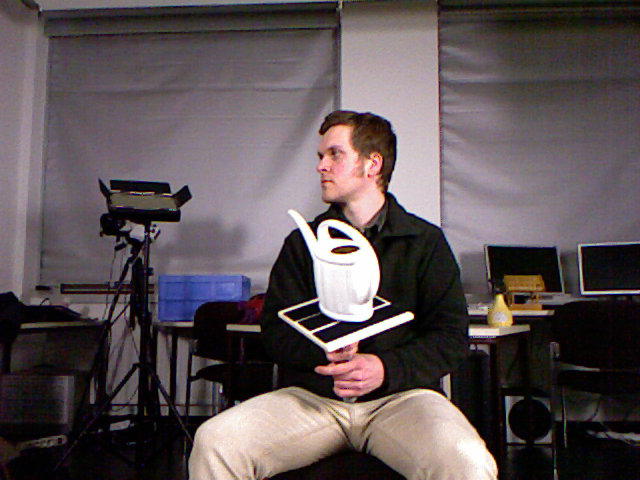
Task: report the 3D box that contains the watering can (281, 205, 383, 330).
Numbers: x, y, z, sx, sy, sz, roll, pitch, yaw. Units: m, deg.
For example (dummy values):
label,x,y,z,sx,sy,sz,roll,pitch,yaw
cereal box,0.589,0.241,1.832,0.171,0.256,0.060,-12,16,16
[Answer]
label,x,y,z,sx,sy,sz,roll,pitch,yaw
watering can,0.021,0.051,1.071,0.105,0.221,0.351,-16,23,-27
